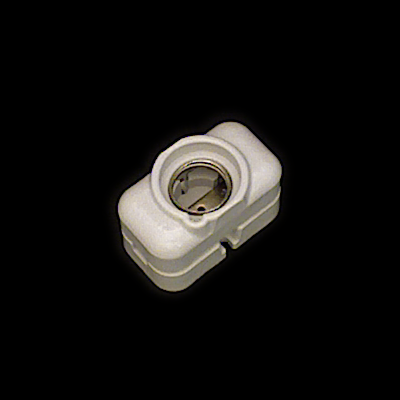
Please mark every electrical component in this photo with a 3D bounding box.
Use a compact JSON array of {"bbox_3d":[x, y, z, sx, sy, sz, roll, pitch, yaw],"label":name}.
[{"bbox_3d":[0.000,0.000,0.633,0.095,0.053,0.059,-37,-21,-17],"label":"electrical component"}]
